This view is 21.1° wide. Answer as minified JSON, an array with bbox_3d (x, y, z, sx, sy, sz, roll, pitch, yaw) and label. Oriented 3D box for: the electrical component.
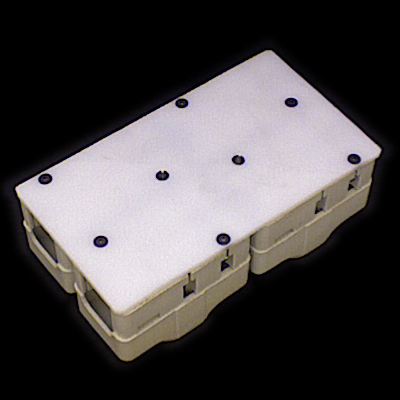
[{"bbox_3d":[0.000,0.000,0.627,0.186,0.105,0.060,-31,-32,-22],"label":"electrical component"}]
